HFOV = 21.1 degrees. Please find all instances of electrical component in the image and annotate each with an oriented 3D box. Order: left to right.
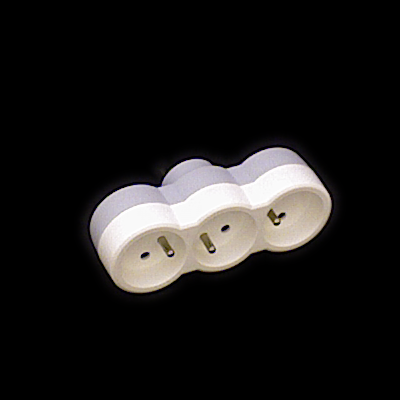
[{"bbox_3d":[0.000,0.000,0.632,0.138,0.052,0.073,-16,43,-17],"label":"electrical component"}]
